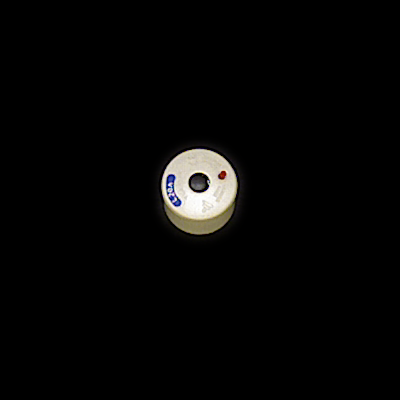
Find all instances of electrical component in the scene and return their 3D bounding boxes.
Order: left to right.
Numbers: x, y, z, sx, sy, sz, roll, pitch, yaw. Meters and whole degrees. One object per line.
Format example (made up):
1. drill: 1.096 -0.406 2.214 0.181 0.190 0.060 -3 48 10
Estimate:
1. electrical component: 0.000 0.000 0.617 0.040 0.040 0.078 0 -17 -1
